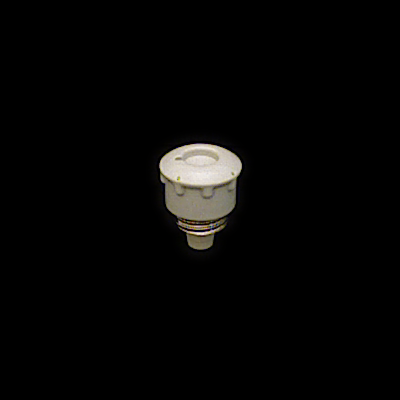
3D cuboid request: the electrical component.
[{"bbox_3d":[0.000,0.000,0.639,0.048,0.063,0.047,1,32,0],"label":"electrical component"}]
